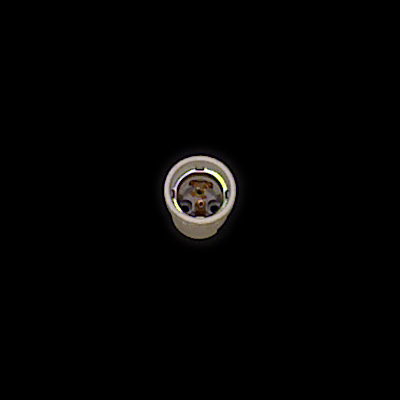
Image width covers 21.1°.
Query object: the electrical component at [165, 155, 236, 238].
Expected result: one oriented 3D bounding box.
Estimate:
[{"bbox_3d":[0.000,0.000,0.627,0.040,0.040,0.046,0,-17,-1],"label":"electrical component"}]
